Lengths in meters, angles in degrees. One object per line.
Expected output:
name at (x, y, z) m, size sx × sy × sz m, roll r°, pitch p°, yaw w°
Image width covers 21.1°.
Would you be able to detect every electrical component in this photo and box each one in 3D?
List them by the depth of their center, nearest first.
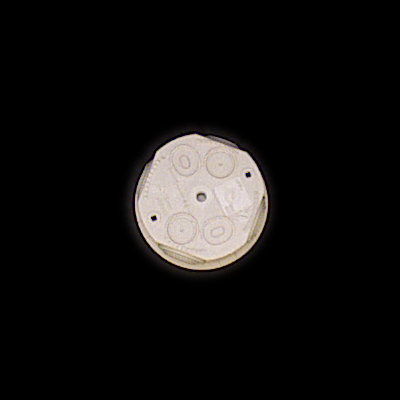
electrical component at (0.000, 0.000, 0.633) m, size 0.080 × 0.080 × 0.050 m, roll 0°, pitch -7°, yaw 0°
